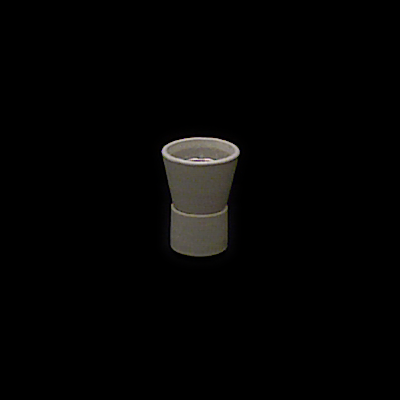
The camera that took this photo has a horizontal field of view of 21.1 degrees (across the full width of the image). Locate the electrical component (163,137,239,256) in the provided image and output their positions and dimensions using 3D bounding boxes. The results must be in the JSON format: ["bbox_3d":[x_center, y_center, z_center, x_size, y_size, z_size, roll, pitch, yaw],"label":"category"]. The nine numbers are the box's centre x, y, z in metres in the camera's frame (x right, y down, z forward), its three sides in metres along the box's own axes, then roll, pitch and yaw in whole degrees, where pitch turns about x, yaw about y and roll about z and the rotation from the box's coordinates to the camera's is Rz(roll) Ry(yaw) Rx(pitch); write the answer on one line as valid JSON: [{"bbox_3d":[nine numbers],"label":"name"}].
[{"bbox_3d":[0.000,0.000,0.636,0.044,0.066,0.044,1,22,0],"label":"electrical component"}]
